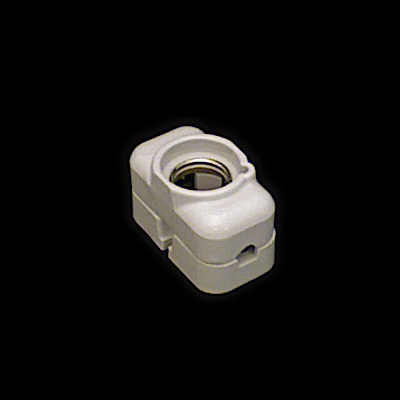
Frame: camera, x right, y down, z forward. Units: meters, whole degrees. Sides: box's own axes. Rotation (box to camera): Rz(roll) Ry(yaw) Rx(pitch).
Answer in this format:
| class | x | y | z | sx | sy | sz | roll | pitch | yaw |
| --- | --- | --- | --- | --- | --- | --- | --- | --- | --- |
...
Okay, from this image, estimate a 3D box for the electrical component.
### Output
| class | x | y | z | sx | sy | sz | roll | pitch | yaw |
| --- | --- | --- | --- | --- | --- | --- | --- | --- | --- |
| electrical component | 0.000 | 0.000 | 0.638 | 0.054 | 0.060 | 0.094 | -25 | 49 | -25 |
